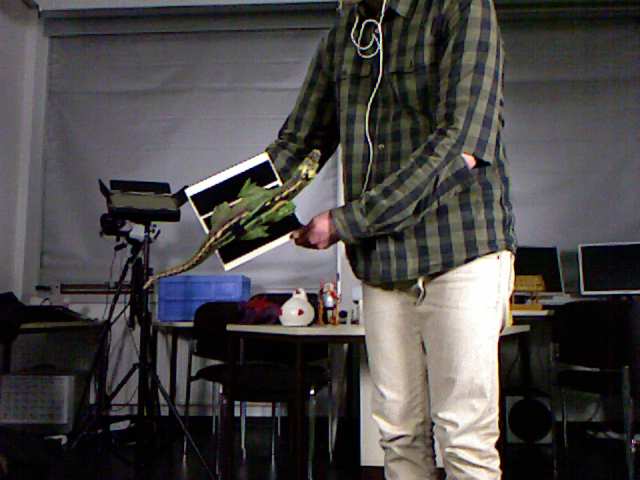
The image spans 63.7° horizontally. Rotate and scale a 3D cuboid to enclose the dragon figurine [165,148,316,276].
[{"bbox_3d":[-0.162,-0.041,1.049,0.412,0.122,0.243,-41,6,-6],"label":"dragon figurine"}]
